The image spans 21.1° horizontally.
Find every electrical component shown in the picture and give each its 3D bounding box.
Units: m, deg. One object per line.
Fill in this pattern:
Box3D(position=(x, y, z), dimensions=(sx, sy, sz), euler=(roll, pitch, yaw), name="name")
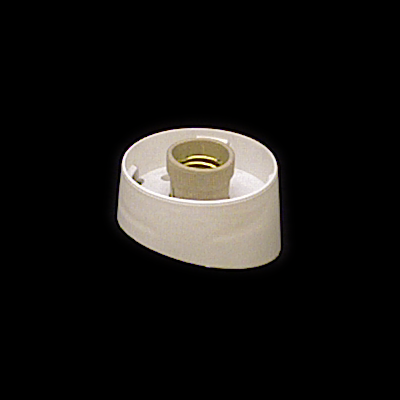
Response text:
Box3D(position=(0.000, 0.000, 0.633), dimensions=(0.099, 0.065, 0.097), euler=(1, 31, 0), name="electrical component")
